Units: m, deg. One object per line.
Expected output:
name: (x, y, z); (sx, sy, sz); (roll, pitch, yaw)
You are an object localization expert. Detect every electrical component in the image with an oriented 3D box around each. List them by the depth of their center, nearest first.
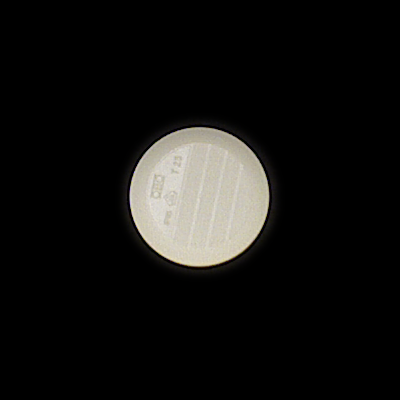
electrical component: (0.000, 0.000, 0.631); (0.080, 0.080, 0.050); (0, -7, 0)
